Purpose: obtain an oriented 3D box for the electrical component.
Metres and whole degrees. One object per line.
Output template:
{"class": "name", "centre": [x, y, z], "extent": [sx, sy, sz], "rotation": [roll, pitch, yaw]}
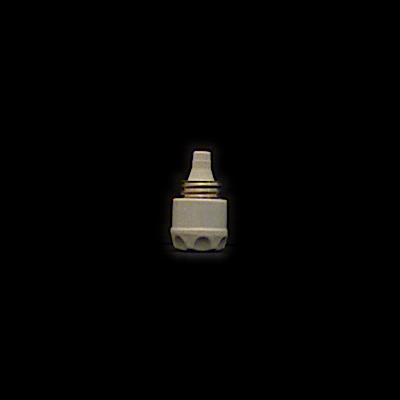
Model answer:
{"class": "electrical component", "centre": [0.000, 0.000, 0.662], "extent": [0.035, 0.061, 0.035], "rotation": [3, 1, 0]}
